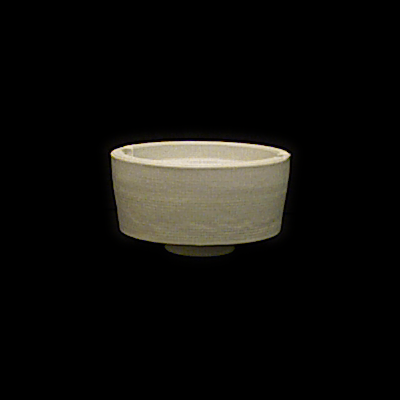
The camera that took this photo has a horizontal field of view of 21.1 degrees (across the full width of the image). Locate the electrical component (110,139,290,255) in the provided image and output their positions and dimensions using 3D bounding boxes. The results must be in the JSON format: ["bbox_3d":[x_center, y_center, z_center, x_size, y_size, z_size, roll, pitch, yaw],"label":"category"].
[{"bbox_3d":[0.000,0.000,0.653,0.108,0.061,0.107,1,11,0],"label":"electrical component"}]
